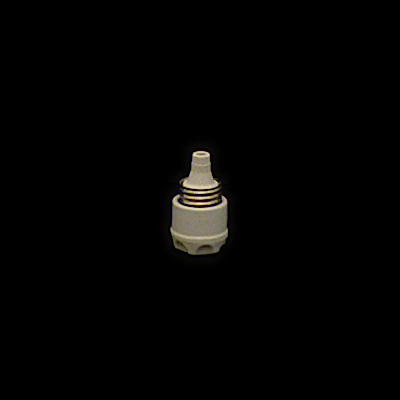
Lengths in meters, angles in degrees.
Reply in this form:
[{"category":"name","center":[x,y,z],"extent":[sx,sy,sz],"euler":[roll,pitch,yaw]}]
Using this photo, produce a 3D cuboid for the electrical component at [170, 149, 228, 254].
[{"category":"electrical component","center":[0.000,0.000,0.651],"extent":[0.035,0.062,0.034],"euler":[2,21,0]}]
